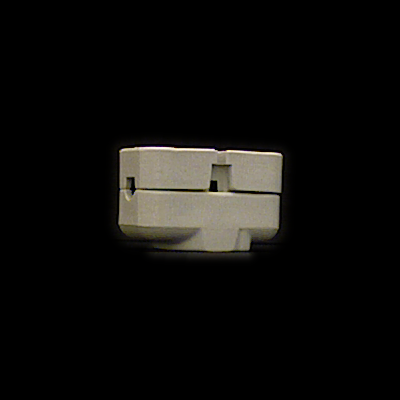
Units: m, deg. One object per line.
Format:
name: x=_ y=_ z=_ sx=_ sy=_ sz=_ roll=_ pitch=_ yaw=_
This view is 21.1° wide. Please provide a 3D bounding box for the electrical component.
electrical component: x=0.000 y=0.000 z=0.655 sx=0.096 sy=0.059 sz=0.053 roll=2 pitch=1 yaw=-28
